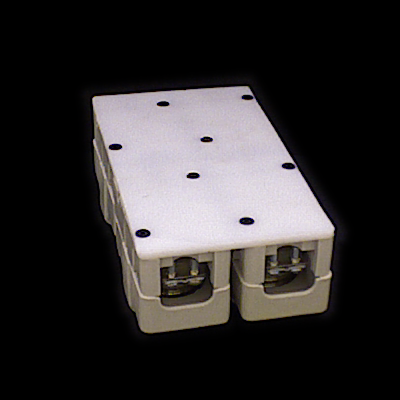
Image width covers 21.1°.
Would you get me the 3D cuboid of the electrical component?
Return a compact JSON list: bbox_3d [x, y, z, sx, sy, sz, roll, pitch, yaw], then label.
[{"bbox_3d":[0.000,0.000,0.634,0.105,0.061,0.183,-6,32,-11],"label":"electrical component"}]
